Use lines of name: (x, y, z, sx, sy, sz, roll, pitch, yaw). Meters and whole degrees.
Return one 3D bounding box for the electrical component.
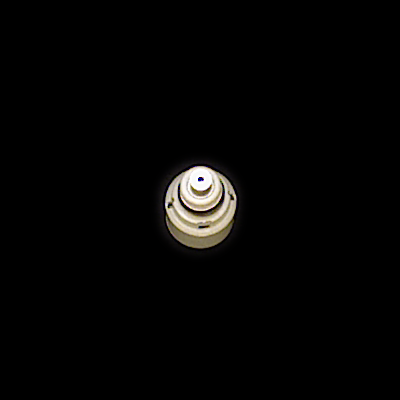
electrical component: (0.000, 0.000, 0.617, 0.040, 0.040, 0.078, 0, -17, 0)
